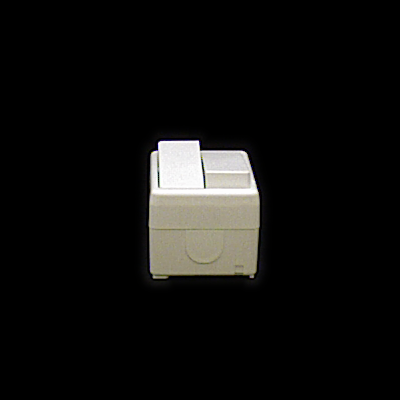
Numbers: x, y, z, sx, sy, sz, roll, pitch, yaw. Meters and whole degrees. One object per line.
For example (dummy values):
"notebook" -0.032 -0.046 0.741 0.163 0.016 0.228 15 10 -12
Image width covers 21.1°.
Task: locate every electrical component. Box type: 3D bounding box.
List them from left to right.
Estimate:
"electrical component" 0.000 0.000 0.641 0.062 0.061 0.095 0 21 -3
